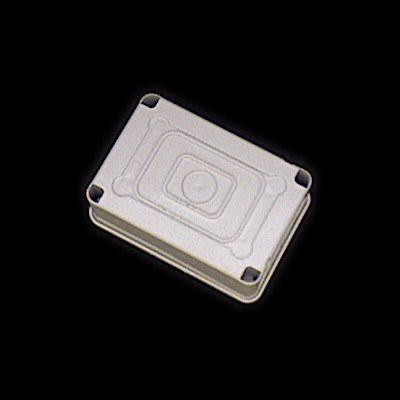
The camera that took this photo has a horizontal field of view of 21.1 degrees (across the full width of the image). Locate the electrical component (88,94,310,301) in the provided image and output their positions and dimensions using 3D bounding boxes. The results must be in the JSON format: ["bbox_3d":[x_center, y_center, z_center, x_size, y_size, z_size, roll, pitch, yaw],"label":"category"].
[{"bbox_3d":[0.000,0.000,0.628,0.113,0.078,0.057,27,-15,8],"label":"electrical component"}]
